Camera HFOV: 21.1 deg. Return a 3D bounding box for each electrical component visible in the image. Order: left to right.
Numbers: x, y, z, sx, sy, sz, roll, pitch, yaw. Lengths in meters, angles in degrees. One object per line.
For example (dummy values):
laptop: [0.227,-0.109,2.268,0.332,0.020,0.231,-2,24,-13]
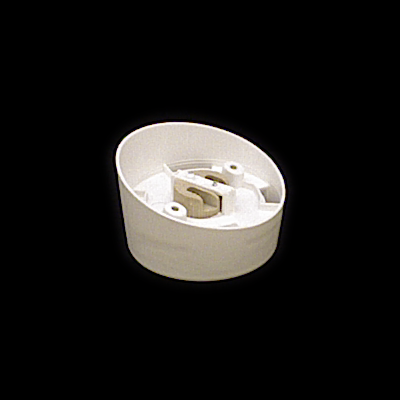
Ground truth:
electrical component: [0.000,0.000,0.632,0.099,0.065,0.097,0,31,0]
